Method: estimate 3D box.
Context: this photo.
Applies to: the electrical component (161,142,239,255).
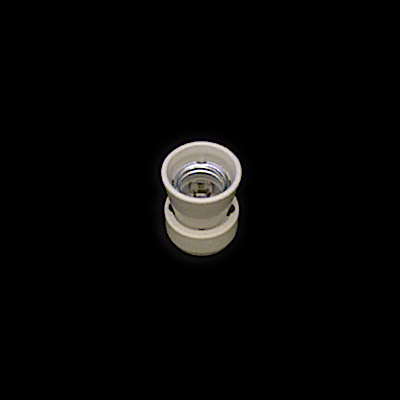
[{"bbox_3d":[0.000,0.000,0.630,0.045,0.044,0.055,0,-38,-1],"label":"electrical component"}]
